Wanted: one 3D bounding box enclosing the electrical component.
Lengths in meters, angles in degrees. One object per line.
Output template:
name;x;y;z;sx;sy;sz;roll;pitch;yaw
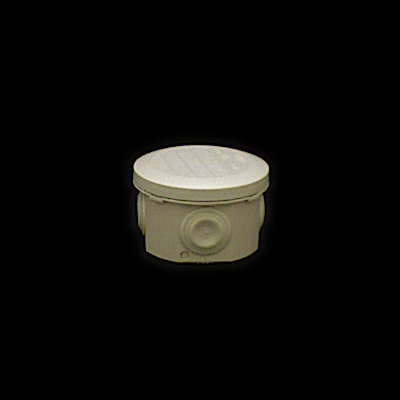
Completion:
electrical component;0.000;0.000;0.638;0.080;0.051;0.079;1;21;0
